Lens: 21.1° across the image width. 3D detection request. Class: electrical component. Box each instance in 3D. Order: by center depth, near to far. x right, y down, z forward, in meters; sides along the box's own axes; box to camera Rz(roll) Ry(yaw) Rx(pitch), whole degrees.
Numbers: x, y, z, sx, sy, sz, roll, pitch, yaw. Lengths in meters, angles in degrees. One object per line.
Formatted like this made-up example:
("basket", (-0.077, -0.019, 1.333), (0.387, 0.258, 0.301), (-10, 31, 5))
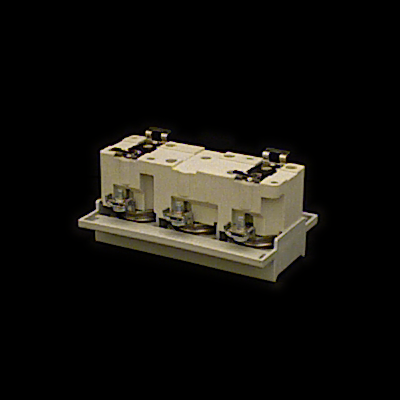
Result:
("electrical component", (0.000, 0.000, 0.643), (0.120, 0.064, 0.078), (11, 25, 25))
